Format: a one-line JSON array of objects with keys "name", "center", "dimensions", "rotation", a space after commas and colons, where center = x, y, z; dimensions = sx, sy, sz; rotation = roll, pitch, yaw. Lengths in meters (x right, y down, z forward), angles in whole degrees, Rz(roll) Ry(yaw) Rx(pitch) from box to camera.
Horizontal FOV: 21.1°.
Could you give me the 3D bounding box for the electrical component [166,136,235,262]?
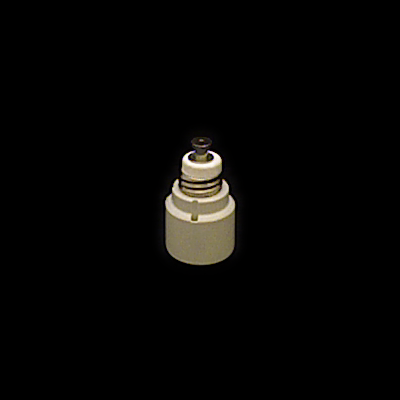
[{"name": "electrical component", "center": [0.000, 0.000, 0.631], "dimensions": [0.040, 0.079, 0.039], "rotation": [1, 32, 0]}]
